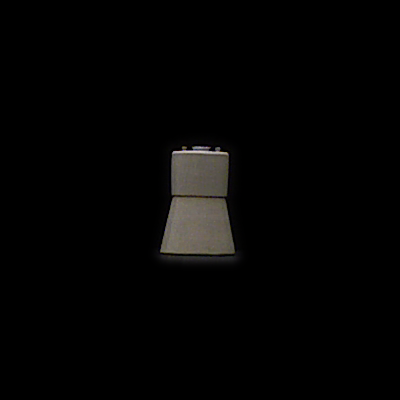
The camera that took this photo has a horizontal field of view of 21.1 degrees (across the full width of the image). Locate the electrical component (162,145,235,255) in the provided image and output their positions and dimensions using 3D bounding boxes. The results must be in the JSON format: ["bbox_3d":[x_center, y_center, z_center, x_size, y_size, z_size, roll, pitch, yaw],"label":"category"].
[{"bbox_3d":[0.000,0.000,0.648,0.044,0.065,0.044,1,2,0],"label":"electrical component"}]
